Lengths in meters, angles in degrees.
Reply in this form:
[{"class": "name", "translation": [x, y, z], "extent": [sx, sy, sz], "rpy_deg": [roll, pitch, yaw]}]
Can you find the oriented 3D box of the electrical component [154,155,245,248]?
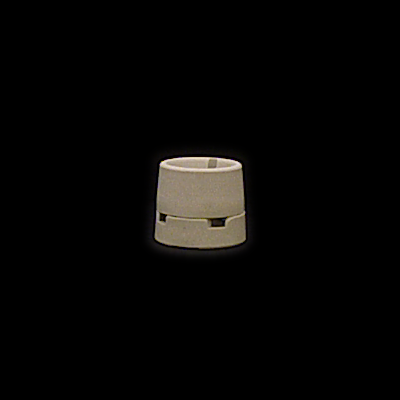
[{"class": "electrical component", "translation": [0.000, 0.000, 0.644], "extent": [0.055, 0.047, 0.055], "rpy_deg": [0, 12, 0]}]
